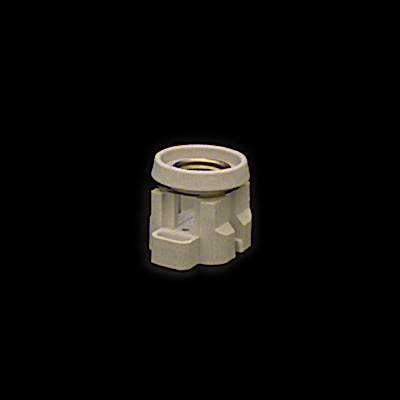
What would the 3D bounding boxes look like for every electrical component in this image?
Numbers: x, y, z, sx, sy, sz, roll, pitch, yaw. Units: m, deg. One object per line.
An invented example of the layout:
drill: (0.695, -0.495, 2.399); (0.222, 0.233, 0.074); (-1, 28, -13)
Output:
electrical component: (0.000, 0.000, 0.641); (0.057, 0.057, 0.078); (13, 24, 28)
